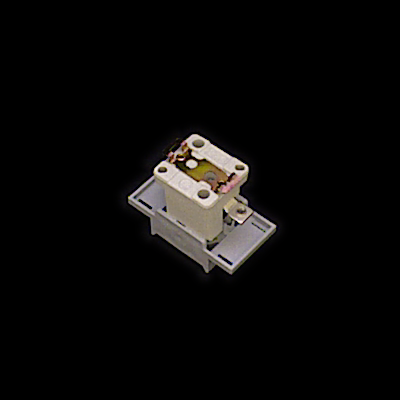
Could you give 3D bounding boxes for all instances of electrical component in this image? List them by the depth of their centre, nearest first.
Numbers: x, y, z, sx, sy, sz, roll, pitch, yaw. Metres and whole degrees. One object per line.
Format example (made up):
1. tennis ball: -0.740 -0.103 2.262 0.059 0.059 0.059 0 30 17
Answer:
1. electrical component: 0.000 0.000 0.627 0.080 0.042 0.064 34 -30 23
